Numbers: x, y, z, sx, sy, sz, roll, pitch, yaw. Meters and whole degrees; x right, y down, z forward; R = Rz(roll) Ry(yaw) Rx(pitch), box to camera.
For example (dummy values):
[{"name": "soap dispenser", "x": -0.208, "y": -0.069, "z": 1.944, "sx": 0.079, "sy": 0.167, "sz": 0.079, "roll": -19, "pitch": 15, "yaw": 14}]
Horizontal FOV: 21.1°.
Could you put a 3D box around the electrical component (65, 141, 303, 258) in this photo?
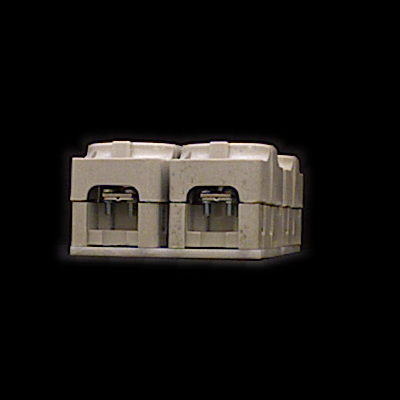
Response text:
[{"name": "electrical component", "x": 0.000, "y": 0.000, "z": 0.649, "sx": 0.105, "sy": 0.060, "sz": 0.186, "roll": 1, "pitch": 0, "yaw": 12}]
